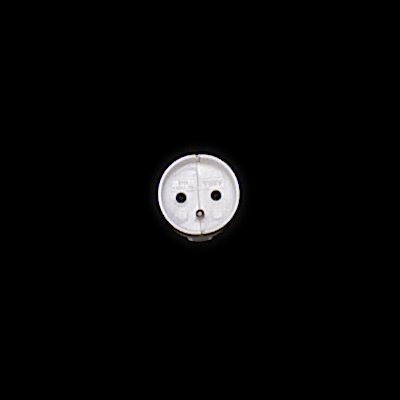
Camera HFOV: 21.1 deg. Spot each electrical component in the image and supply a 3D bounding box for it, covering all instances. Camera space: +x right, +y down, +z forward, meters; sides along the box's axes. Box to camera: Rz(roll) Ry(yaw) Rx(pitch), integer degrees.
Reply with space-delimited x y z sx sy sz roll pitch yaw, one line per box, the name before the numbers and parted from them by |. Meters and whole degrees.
electrical component | 0.000 0.000 0.615 0.043 0.043 0.080 0 -5 1
